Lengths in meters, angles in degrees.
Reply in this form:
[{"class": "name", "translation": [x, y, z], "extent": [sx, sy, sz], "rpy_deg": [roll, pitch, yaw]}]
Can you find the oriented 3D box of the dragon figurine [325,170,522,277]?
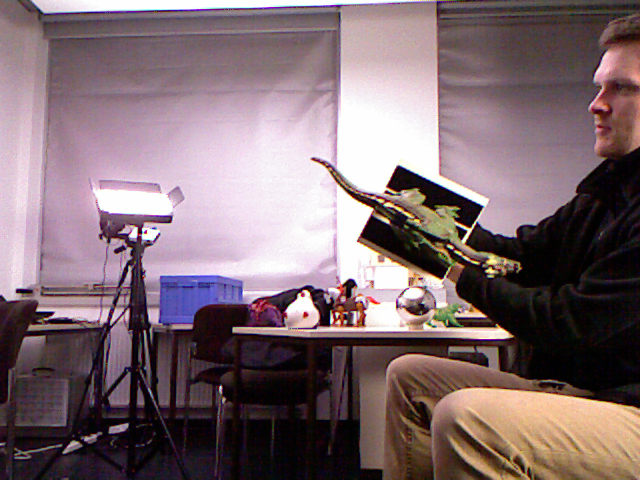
[{"class": "dragon figurine", "translation": [0.176, -0.037, 0.974], "extent": [0.413, 0.122, 0.244], "rpy_deg": [26, 7, 6]}]
